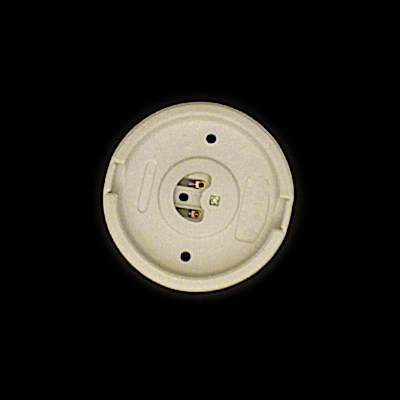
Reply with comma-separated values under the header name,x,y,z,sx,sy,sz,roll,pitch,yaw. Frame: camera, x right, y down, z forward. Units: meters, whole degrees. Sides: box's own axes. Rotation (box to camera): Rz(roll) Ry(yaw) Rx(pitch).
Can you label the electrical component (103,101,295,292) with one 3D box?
name,x,y,z,sx,sy,sz,roll,pitch,yaw
electrical component,0.000,0.000,0.635,0.108,0.108,0.060,0,-6,0
